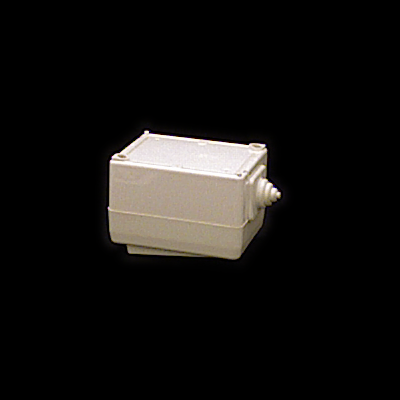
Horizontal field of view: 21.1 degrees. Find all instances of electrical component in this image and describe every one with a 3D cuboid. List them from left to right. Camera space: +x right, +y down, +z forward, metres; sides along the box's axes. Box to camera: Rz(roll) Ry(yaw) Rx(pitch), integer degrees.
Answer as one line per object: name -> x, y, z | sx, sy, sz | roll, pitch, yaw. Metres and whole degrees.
electrical component -> 0.000, 0.000, 0.637 | 0.096, 0.061, 0.061 | 8, 22, 15
